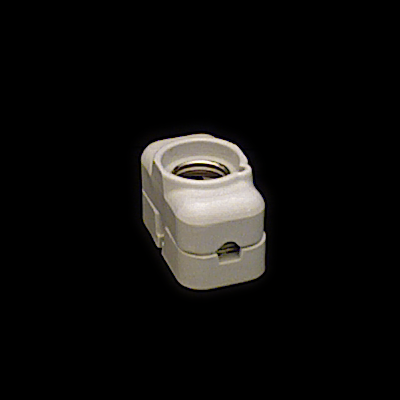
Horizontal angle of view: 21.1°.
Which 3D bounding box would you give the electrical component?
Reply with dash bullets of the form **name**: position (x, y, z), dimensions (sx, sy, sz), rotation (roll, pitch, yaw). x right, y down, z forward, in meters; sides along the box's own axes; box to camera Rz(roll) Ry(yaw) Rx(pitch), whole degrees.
- **electrical component**: position (0.000, 0.000, 0.642), dimensions (0.054, 0.060, 0.093), rotation (-11, 34, -17)
